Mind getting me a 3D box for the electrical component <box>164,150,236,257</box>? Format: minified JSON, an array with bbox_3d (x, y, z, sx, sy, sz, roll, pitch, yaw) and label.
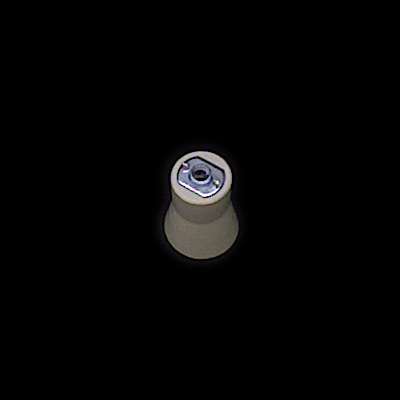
[{"bbox_3d":[0.000,0.000,0.625,0.044,0.044,0.065,0,-28,0],"label":"electrical component"}]
